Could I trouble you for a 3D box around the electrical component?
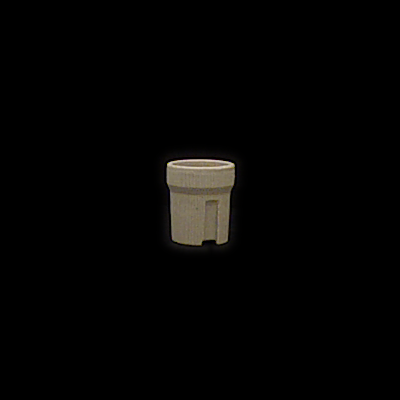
[{"bbox_3d":[0.000,0.000,0.646,0.040,0.046,0.040,1,11,0],"label":"electrical component"}]
